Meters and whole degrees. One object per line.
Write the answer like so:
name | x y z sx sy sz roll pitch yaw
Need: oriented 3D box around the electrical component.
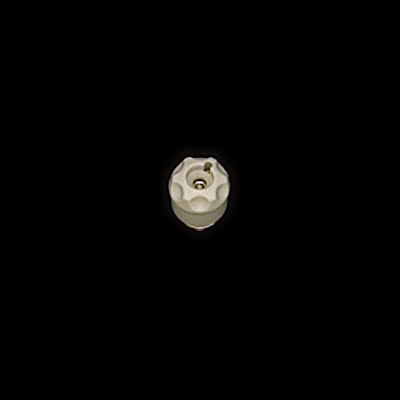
electrical component | 0.000 0.000 0.634 0.035 0.035 0.061 0 -27 0
